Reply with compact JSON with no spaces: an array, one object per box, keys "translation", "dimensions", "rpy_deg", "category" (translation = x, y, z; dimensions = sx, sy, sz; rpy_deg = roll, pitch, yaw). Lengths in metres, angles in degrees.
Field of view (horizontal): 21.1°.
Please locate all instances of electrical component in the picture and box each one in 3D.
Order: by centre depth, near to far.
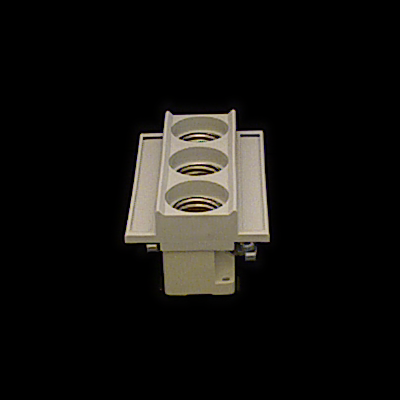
[{"translation":[0.000,0.000,0.645],"dimensions":[0.079,0.064,0.119],"rpy_deg":[0,32,2],"category":"electrical component"}]
